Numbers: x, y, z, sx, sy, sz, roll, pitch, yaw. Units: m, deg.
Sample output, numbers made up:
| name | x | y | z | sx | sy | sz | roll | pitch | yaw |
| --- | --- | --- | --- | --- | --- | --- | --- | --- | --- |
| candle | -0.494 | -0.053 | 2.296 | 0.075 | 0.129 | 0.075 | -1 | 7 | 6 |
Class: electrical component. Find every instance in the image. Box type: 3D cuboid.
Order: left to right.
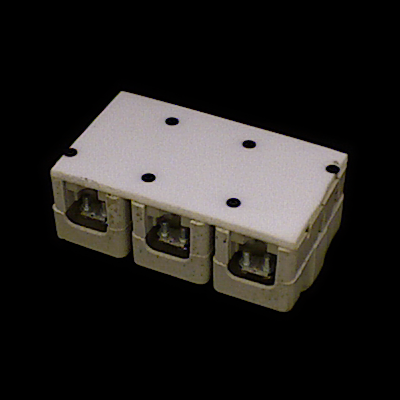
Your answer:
| name | x | y | z | sx | sy | sz | roll | pitch | yaw |
| --- | --- | --- | --- | --- | --- | --- | --- | --- | --- |
| electrical component | 0.000 | 0.000 | 0.636 | 0.149 | 0.063 | 0.088 | 17 | 44 | 18 |
